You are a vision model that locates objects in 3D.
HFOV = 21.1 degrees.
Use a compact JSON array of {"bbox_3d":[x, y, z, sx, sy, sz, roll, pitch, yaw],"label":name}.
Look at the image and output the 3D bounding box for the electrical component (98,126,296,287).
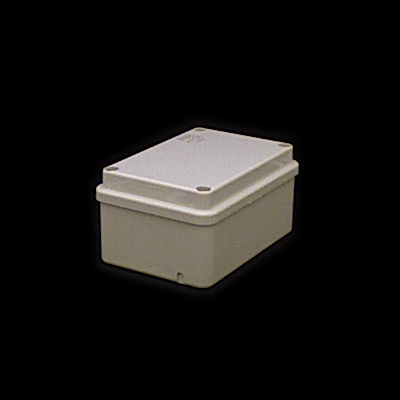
[{"bbox_3d":[0.000,0.000,0.640,0.077,0.058,0.112,13,24,28],"label":"electrical component"}]
